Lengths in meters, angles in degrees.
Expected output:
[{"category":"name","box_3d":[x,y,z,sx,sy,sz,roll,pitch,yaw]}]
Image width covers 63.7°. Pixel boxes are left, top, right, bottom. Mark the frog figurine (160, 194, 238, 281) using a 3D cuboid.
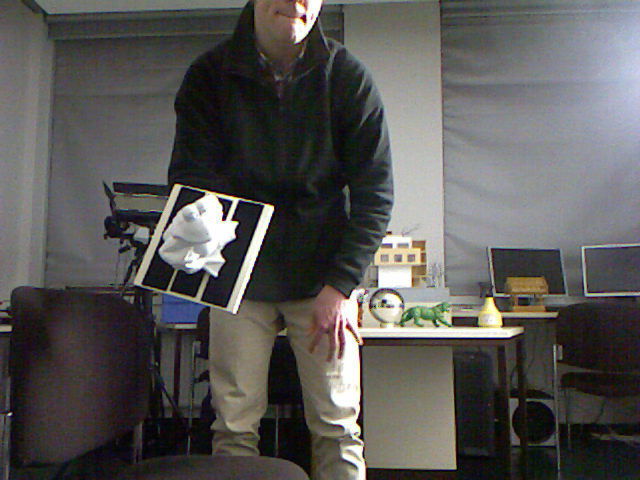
[{"category":"frog figurine","box_3d":[-0.213,-0.016,0.851,0.124,0.138,0.157,34,-9,23]}]
